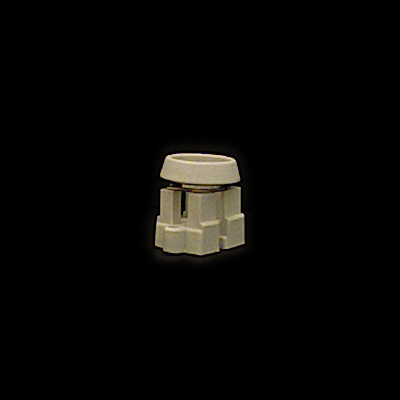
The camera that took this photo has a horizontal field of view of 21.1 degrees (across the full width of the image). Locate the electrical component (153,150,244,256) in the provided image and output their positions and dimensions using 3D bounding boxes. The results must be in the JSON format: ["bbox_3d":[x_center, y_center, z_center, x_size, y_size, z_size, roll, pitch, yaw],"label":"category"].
[{"bbox_3d":[0.000,0.000,0.653,0.048,0.056,0.067,13,16,36],"label":"electrical component"}]
